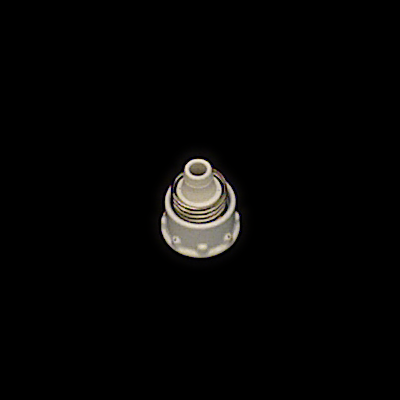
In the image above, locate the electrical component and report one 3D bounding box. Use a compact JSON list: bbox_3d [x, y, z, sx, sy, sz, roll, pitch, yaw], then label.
[{"bbox_3d":[0.000,0.000,0.634,0.048,0.048,0.062,0,-37,1],"label":"electrical component"}]
